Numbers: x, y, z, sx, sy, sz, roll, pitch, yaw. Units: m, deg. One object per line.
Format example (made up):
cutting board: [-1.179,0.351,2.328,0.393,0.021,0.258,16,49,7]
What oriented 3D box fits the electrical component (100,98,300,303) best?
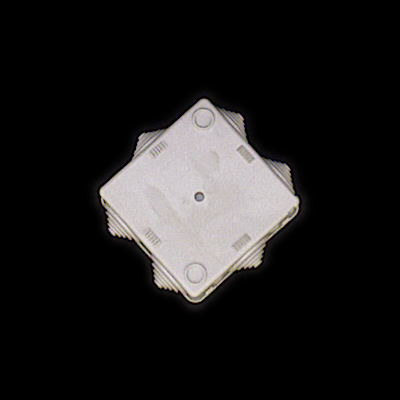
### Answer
electrical component: [0.000,0.000,0.632,0.100,0.100,0.048,-42,-5,-4]
